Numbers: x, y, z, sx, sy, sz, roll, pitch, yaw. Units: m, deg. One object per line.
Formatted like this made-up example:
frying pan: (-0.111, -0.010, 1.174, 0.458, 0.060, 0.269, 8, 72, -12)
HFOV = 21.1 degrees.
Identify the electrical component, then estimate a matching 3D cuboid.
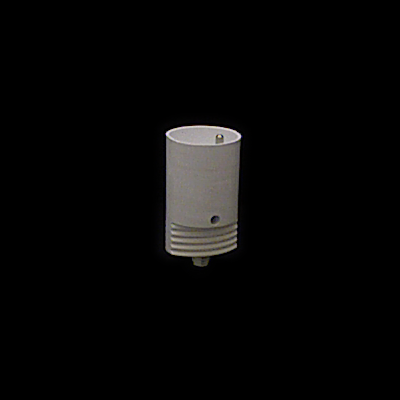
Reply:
electrical component: (0.000, 0.000, 0.637, 0.043, 0.082, 0.042, 2, 21, 0)
